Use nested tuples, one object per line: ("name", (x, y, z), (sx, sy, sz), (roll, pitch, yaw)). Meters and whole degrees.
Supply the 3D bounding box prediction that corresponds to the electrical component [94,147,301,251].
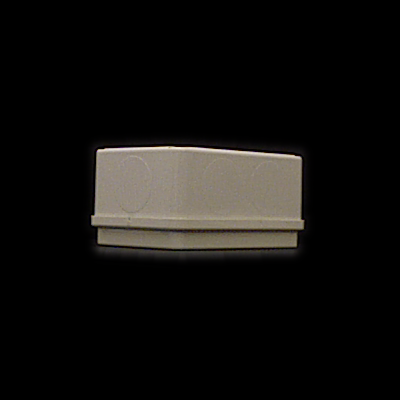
("electrical component", (0.000, 0.000, 0.649), (0.078, 0.057, 0.113), (2, 1, 45))
